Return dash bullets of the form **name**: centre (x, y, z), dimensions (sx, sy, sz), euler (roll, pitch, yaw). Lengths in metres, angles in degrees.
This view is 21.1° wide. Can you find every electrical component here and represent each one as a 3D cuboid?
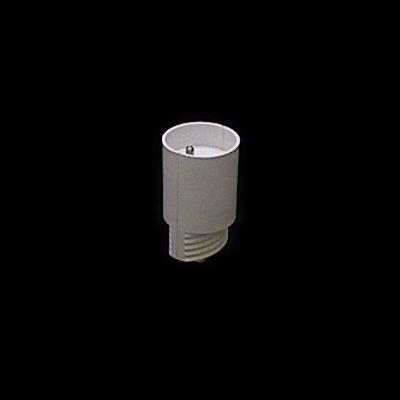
- **electrical component**: centre (0.000, 0.000, 0.626), dimensions (0.043, 0.082, 0.042), euler (0, 32, 0)
